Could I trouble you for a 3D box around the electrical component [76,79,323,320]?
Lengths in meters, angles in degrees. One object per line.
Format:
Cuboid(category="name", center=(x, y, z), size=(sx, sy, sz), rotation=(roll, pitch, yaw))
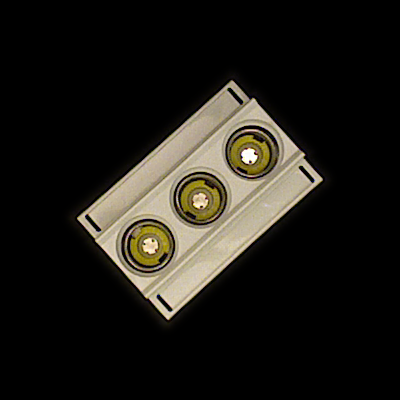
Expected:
Cuboid(category="electrical component", center=(0.000, 0.000, 0.637), size=(0.121, 0.079, 0.063), rotation=(-42, -3, -3))
